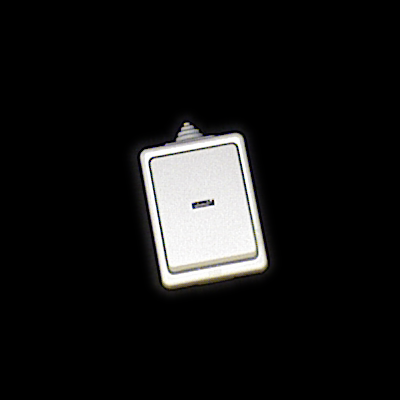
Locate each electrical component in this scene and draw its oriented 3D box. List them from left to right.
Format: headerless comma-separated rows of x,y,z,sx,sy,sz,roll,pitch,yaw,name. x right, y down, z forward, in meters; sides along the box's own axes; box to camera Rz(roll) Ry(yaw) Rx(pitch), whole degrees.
0.000,0.000,0.627,0.062,0.096,0.061,-11,-7,-1,electrical component
